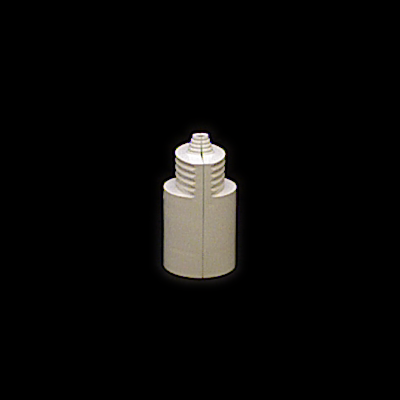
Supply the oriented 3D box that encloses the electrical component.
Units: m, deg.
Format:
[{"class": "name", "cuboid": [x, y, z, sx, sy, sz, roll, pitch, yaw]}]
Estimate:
[{"class": "electrical component", "cuboid": [0.000, 0.000, 0.636, 0.043, 0.082, 0.042, 1, 21, 0]}]
